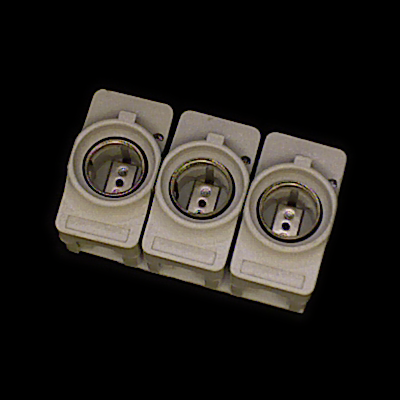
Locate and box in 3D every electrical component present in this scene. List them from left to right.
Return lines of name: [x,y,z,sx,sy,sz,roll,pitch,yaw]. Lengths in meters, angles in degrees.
electrical component: [0.000,0.000,0.632,0.150,0.089,0.062,15,-17,4]
